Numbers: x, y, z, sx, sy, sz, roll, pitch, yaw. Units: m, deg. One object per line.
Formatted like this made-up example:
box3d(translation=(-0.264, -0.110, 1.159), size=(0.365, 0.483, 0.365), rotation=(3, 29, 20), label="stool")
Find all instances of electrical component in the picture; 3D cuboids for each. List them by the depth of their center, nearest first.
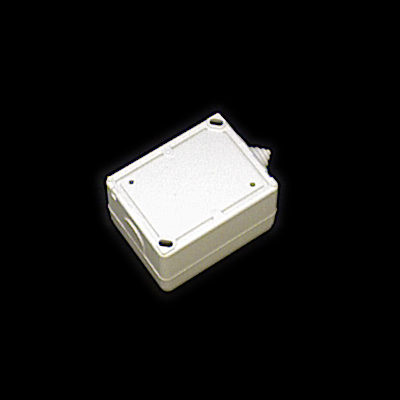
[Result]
box3d(translation=(0.001, 0.000, 0.629), size=(0.096, 0.061, 0.061), rotation=(-31, -24, -15), label="electrical component")
